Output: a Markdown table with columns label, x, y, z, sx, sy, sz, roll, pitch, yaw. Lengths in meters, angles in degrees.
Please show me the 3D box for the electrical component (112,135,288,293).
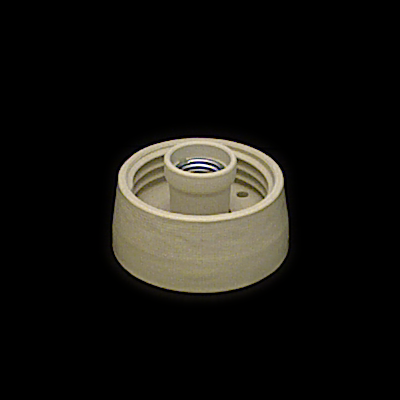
| label | x | y | z | sx | sy | sz | roll | pitch | yaw |
| --- | --- | --- | --- | --- | --- | --- | --- | --- | --- |
| electrical component | 0.000 | 0.000 | 0.641 | 0.108 | 0.061 | 0.106 | 1 | 32 | 0 |
